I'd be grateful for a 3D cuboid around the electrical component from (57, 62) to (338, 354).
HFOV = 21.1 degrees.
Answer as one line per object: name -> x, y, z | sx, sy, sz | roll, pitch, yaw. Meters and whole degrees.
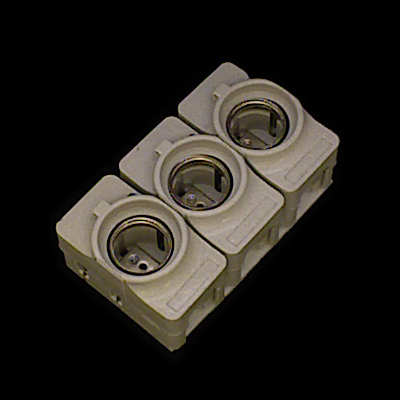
electrical component -> 0.000, 0.000, 0.631 | 0.089, 0.150, 0.062 | 37, -22, 18
